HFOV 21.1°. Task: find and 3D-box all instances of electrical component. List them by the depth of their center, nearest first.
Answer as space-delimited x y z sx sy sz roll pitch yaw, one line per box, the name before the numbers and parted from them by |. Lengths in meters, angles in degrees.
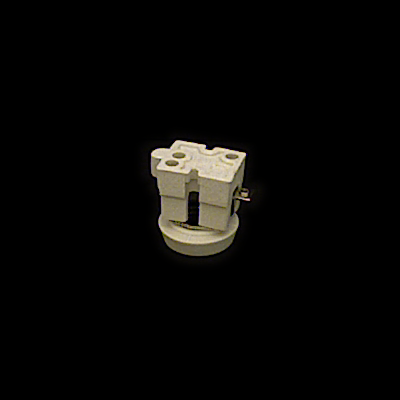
electrical component | 0.000 0.000 0.643 0.066 0.056 0.048 11 32 13
